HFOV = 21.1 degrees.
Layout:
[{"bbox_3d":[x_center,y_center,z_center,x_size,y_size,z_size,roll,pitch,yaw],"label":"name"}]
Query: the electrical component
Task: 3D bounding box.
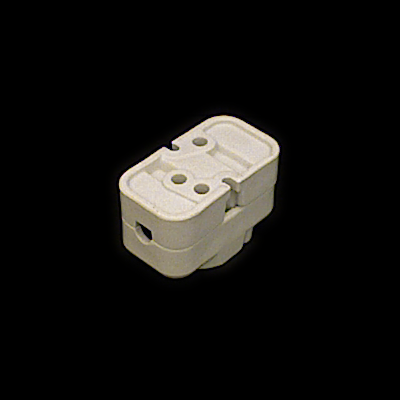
[{"bbox_3d":[0.000,0.000,0.638,0.053,0.060,0.095,33,51,30],"label":"electrical component"}]
